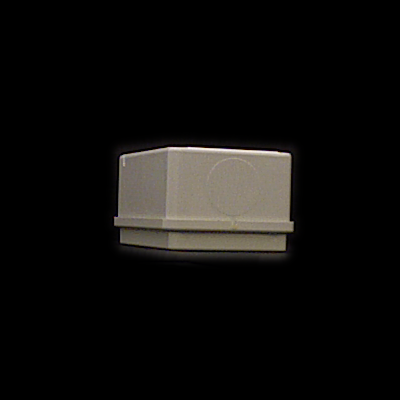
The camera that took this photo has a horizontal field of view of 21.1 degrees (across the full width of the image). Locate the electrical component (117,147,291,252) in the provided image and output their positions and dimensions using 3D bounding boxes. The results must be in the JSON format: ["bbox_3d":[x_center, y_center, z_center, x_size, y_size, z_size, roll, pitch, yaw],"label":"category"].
[{"bbox_3d":[0.000,0.000,0.649,0.078,0.057,0.113,1,0,-20],"label":"electrical component"}]
